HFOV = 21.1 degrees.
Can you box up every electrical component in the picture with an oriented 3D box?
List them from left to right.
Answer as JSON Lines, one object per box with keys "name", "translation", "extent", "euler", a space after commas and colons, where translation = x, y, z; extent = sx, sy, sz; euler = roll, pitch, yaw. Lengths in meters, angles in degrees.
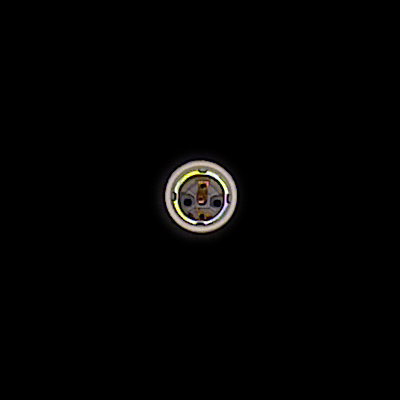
{"name": "electrical component", "translation": [0.000, 0.000, 0.627], "extent": [0.040, 0.040, 0.046], "euler": [0, -6, 0]}
